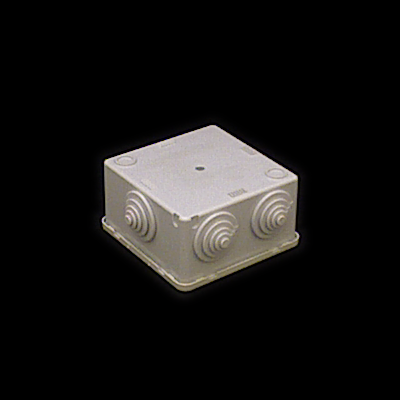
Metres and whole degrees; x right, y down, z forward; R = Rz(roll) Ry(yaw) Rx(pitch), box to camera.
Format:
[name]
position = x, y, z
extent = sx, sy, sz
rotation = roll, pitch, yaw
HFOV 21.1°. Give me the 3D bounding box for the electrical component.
[electrical component]
position = 0.000, 0.000, 0.636
extent = 0.100, 0.049, 0.098
rotation = -21, 37, -31
